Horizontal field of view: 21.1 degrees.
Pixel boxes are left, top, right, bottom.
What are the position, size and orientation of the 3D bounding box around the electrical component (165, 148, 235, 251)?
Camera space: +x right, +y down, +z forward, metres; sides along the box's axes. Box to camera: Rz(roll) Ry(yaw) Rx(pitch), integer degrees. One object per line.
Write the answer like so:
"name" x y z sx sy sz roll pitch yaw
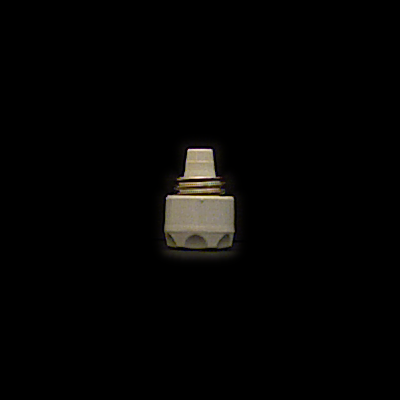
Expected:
"electrical component" 0.000 0.000 0.655 0.043 0.062 0.043 0 3 1
